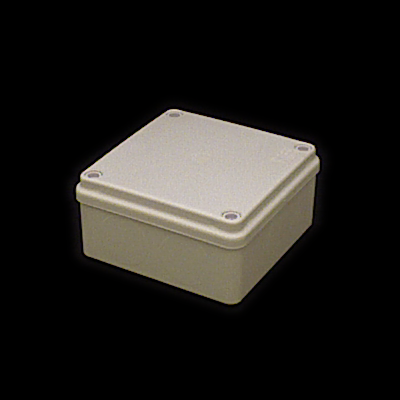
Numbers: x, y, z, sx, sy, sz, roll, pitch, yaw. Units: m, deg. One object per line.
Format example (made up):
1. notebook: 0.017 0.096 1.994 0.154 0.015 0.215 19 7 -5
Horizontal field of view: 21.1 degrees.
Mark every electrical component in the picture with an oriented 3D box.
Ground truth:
1. electrical component: 0.000 0.000 0.635 0.108 0.057 0.108 17 35 25
